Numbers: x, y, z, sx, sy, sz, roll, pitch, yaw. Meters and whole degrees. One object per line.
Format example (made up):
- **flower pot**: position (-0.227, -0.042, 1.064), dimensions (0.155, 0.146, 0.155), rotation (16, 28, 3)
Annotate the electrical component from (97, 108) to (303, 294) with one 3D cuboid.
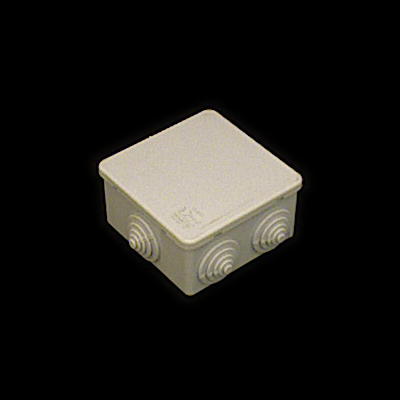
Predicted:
- **electrical component**: position (0.000, 0.000, 0.641), dimensions (0.100, 0.049, 0.098), rotation (-28, 50, -28)
